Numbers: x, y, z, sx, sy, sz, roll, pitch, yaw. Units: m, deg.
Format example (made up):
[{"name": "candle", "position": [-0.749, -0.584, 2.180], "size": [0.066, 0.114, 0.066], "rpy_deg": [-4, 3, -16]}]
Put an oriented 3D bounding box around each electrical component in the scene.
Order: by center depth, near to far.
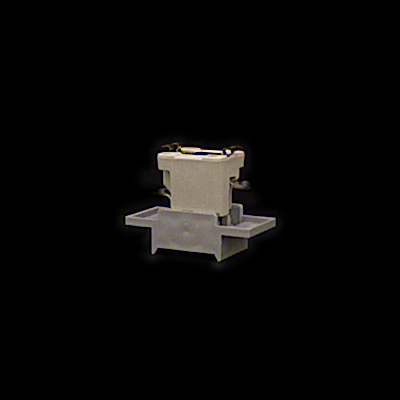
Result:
[{"name": "electrical component", "position": [0.000, 0.000, 0.643], "size": [0.080, 0.064, 0.042], "rpy_deg": [6, 12, 23]}]
